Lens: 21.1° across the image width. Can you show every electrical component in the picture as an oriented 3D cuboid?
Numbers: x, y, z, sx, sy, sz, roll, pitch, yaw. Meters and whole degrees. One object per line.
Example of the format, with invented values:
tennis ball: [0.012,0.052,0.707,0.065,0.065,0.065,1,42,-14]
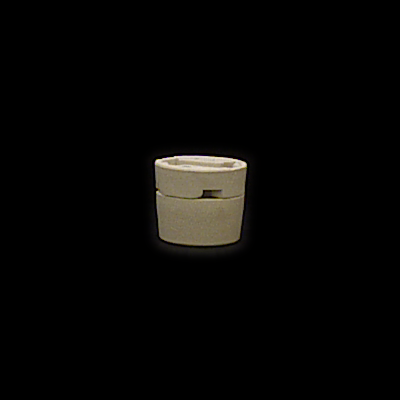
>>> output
electrical component: [0.000,0.000,0.646,0.055,0.047,0.055,1,11,0]
